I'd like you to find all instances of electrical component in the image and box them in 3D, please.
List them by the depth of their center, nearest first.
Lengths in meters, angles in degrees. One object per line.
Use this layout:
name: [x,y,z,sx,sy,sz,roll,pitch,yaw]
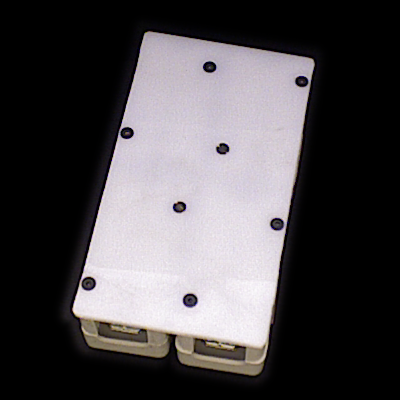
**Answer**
electrical component: [0.000,0.000,0.625,0.105,0.186,0.060,10,-27,5]
